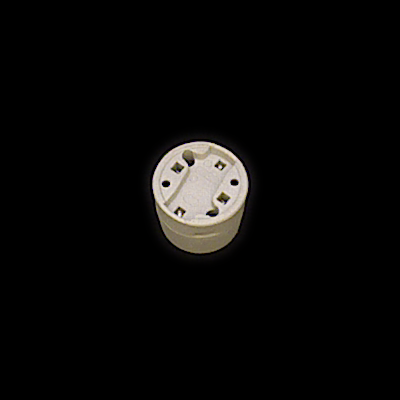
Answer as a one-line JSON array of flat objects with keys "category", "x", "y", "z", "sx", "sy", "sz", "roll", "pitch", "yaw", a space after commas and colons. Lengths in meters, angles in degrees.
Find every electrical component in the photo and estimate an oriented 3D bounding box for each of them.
[{"category": "electrical component", "x": 0.000, "y": 0.000, "z": 0.634, "sx": 0.055, "sy": 0.056, "sz": 0.047, "roll": 0, "pitch": -27, "yaw": 0}]
